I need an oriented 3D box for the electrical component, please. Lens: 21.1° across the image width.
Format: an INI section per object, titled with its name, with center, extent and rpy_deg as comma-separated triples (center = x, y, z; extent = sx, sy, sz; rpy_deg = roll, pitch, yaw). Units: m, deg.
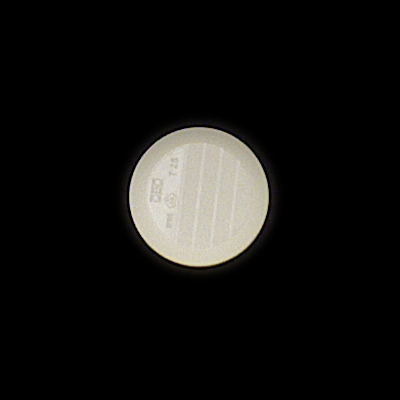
[electrical component]
center = 0.000, 0.000, 0.631
extent = 0.080, 0.080, 0.050
rpy_deg = 0, -7, 0
